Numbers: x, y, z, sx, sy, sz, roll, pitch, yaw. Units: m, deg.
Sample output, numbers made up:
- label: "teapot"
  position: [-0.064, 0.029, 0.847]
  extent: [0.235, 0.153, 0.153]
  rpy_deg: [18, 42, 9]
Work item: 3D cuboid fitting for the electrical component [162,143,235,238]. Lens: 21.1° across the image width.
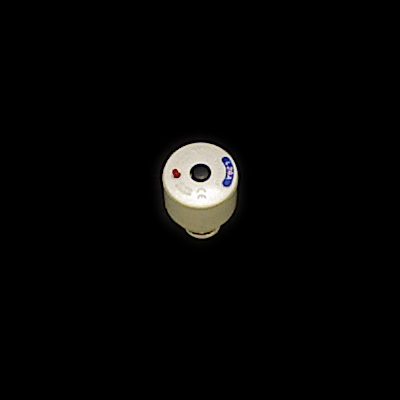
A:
- label: "electrical component"
  position: [0.000, 0.000, 0.618]
  extent: [0.040, 0.040, 0.078]
  rpy_deg: [0, -27, 1]
